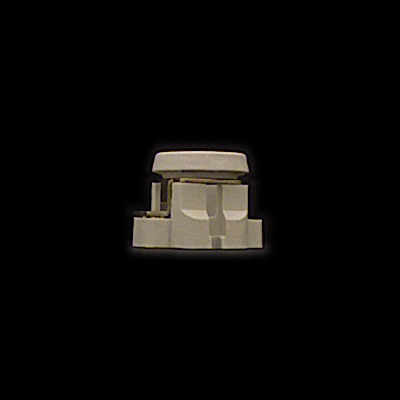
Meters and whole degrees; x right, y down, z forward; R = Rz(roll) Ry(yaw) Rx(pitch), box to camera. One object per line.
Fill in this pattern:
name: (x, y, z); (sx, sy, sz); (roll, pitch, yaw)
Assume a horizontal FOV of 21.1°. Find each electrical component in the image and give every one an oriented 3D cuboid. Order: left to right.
electrical component: (0.000, 0.000, 0.648); (0.079, 0.057, 0.057); (1, 1, -25)
